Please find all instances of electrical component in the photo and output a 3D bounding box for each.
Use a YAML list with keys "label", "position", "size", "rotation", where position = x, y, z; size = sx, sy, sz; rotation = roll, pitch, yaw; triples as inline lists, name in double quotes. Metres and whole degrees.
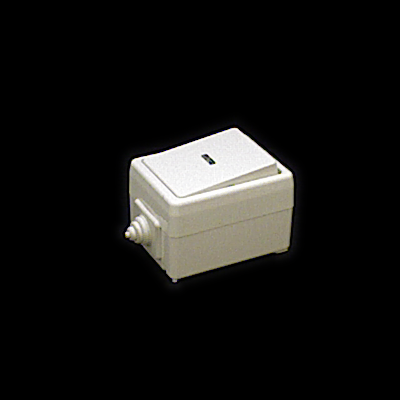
- label: "electrical component"
  position: [0.000, 0.000, 0.633]
  size: [0.096, 0.061, 0.061]
  rotation: [-14, 34, -24]
